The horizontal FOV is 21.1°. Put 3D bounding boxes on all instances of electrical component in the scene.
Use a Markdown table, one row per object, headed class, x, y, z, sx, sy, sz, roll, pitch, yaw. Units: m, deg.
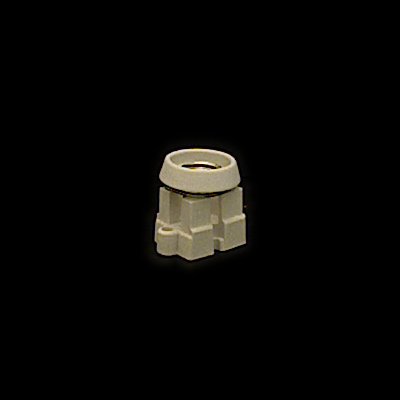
| class | x | y | z | sx | sy | sz | roll | pitch | yaw |
| --- | --- | --- | --- | --- | --- | --- | --- | --- | --- |
| electrical component | 0.000 | 0.000 | 0.648 | 0.067 | 0.056 | 0.047 | -16 | 30 | -36 |
